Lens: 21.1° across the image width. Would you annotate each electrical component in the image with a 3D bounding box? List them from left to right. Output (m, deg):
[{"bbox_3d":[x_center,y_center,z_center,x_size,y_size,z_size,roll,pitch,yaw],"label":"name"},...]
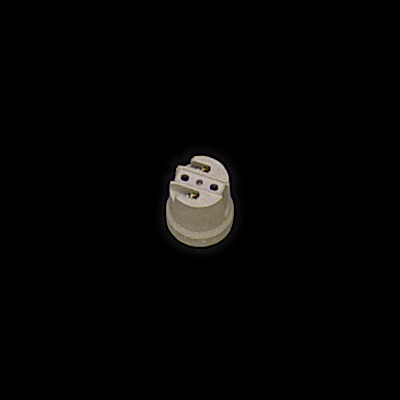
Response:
[{"bbox_3d":[0.000,0.000,0.633,0.040,0.040,0.046,0,-27,-1],"label":"electrical component"}]
